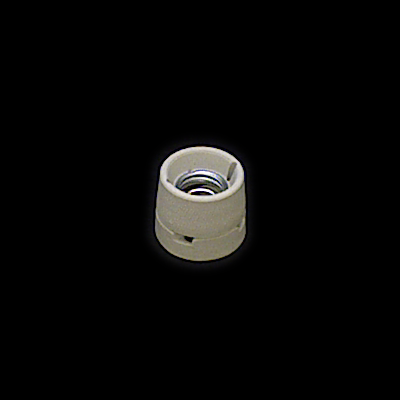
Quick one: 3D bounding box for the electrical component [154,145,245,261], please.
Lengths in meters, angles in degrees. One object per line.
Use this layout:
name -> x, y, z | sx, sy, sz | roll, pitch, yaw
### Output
electrical component -> 0.000, 0.000, 0.637 | 0.055, 0.047, 0.055 | 1, 42, -1
